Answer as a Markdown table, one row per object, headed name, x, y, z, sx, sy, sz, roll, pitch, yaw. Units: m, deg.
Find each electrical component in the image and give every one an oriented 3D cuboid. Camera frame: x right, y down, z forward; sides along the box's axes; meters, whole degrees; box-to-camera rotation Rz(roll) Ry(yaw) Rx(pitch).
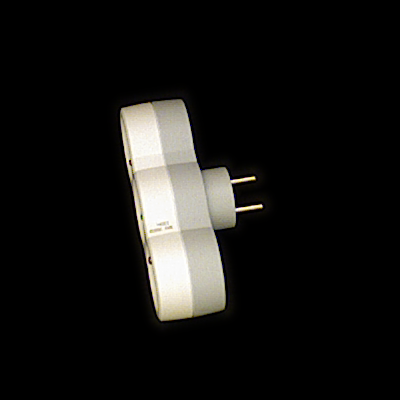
| name | x | y | z | sx | sy | sz | roll | pitch | yaw |
| --- | --- | --- | --- | --- | --- | --- | --- | --- | --- |
| electrical component | 0.000 | 0.000 | 0.637 | 0.074 | 0.138 | 0.052 | -10 | -26 | -7 |
